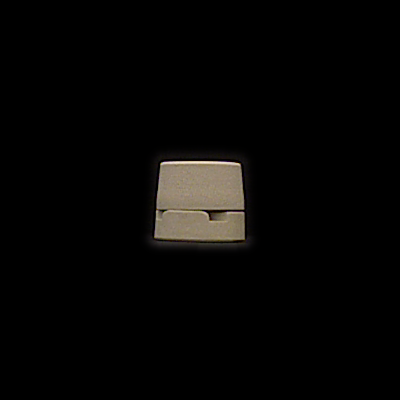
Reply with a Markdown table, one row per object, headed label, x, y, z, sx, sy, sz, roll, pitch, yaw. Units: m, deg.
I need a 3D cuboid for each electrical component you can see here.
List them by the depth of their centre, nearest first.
| label | x | y | z | sx | sy | sz | roll | pitch | yaw |
| --- | --- | --- | --- | --- | --- | --- | --- | --- | --- |
| electrical component | 0.000 | 0.000 | 0.651 | 0.055 | 0.047 | 0.055 | 1 | 0 | 0 |
